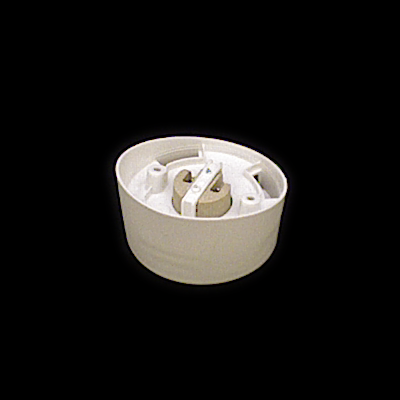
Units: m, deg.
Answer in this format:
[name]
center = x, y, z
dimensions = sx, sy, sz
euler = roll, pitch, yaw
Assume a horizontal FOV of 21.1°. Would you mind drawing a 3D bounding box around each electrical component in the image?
[electrical component]
center = 0.000, 0.000, 0.628
dimensions = 0.099, 0.064, 0.098
euler = 1, 43, 0
